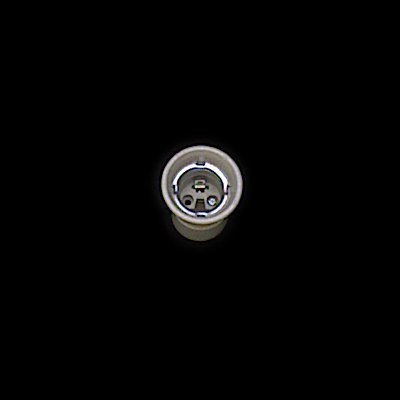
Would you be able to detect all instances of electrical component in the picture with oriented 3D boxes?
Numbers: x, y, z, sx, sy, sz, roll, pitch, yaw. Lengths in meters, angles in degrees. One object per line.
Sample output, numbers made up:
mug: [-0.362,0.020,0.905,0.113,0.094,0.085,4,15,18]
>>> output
electrical component: [0.000,0.000,0.624,0.044,0.044,0.065,0,-17,-1]
